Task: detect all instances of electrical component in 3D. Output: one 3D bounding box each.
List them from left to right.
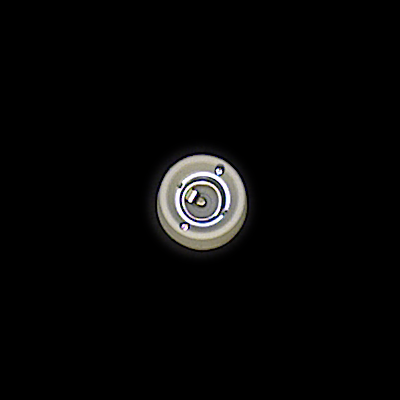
[{"bbox_3d":[0.000,0.000,0.634,0.055,0.055,0.047,0,-7,0],"label":"electrical component"}]
